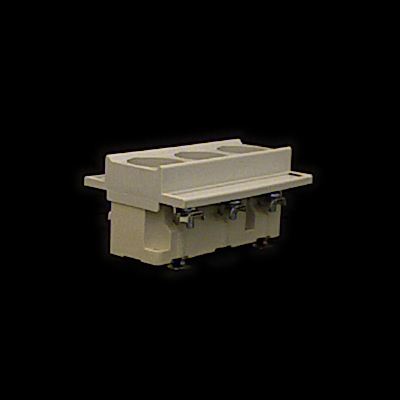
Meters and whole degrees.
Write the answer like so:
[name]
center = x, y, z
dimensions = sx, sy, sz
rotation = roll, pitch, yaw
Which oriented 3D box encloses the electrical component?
[electrical component]
center = 0.000, 0.000, 0.657
dimensions = 0.078, 0.063, 0.121
rotation = 12, 15, 40
